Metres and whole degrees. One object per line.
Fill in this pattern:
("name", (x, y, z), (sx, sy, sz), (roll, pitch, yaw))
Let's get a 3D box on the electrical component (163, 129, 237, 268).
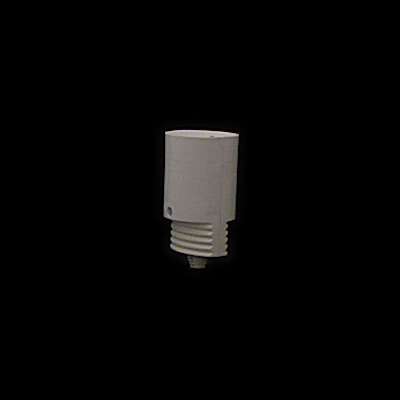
("electrical component", (0.000, 0.000, 0.642), (0.043, 0.082, 0.042), (1, 12, 0))
